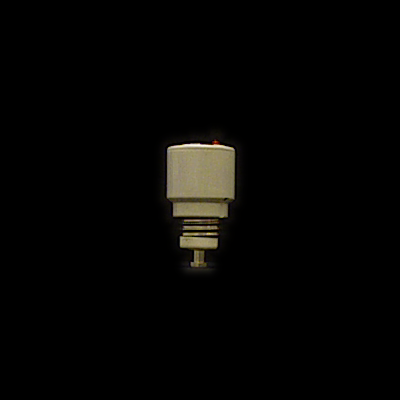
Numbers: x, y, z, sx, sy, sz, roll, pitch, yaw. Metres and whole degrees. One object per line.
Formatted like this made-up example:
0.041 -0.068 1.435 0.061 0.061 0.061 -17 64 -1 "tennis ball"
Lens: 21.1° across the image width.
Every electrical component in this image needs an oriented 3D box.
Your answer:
0.000 0.000 0.651 0.040 0.078 0.040 2 1 0 "electrical component"
